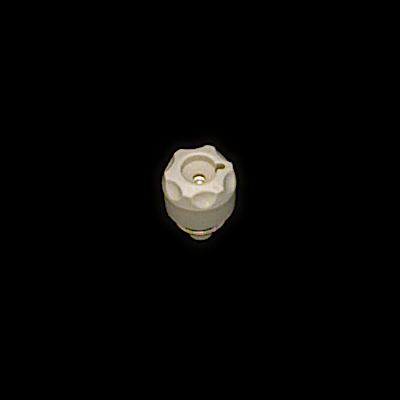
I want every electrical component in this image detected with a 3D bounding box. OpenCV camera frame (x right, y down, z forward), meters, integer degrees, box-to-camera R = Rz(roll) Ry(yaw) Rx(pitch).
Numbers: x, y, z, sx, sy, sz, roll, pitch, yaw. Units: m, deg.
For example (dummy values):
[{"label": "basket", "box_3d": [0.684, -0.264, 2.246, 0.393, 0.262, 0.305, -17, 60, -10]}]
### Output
[{"label": "electrical component", "box_3d": [0.000, 0.000, 0.635, 0.043, 0.043, 0.062, 0, -37, 1]}]
